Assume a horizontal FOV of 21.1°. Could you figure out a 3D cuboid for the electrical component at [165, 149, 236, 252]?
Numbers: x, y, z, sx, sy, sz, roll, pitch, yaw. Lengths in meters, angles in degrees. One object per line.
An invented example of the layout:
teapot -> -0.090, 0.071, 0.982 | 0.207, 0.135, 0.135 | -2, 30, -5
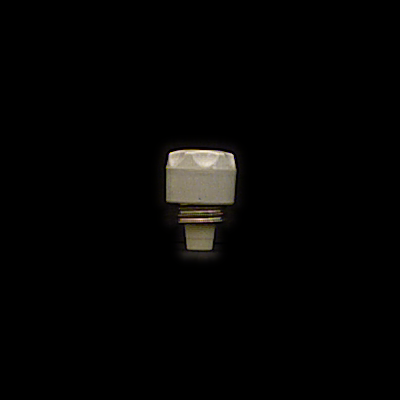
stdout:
electrical component -> 0.000, 0.000, 0.656 | 0.043, 0.062, 0.043 | 1, 2, 0
